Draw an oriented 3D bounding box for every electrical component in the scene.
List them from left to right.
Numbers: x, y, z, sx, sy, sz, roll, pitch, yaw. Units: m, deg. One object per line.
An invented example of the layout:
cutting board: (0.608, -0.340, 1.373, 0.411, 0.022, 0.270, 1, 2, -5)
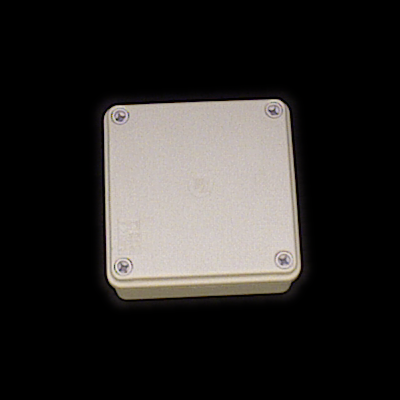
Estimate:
electrical component: (0.000, 0.000, 0.630, 0.109, 0.109, 0.056, -2, -17, -2)
